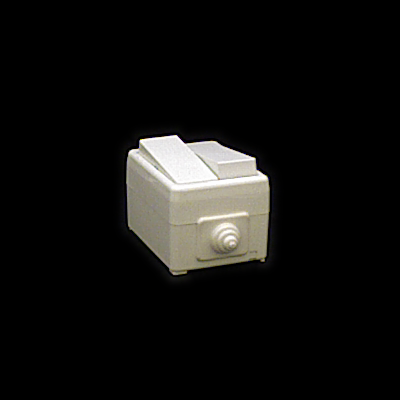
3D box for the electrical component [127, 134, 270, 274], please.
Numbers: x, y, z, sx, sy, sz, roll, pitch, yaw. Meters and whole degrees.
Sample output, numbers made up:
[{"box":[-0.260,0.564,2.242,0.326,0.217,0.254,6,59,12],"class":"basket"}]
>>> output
[{"box":[0.000,0.000,0.637,0.062,0.061,0.095,-8,22,-22],"class":"electrical component"}]
